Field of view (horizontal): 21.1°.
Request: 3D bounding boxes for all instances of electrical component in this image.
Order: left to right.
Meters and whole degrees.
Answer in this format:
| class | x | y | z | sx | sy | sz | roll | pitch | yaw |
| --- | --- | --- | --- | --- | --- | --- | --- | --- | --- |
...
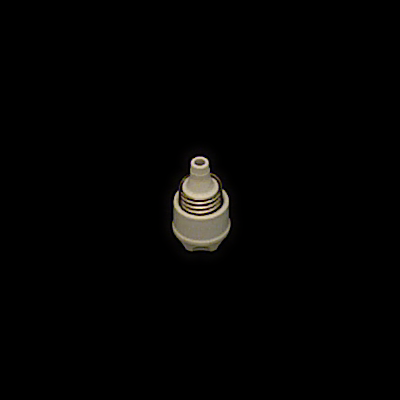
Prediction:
| class | x | y | z | sx | sy | sz | roll | pitch | yaw |
| --- | --- | --- | --- | --- | --- | --- | --- | --- | --- |
| electrical component | 0.000 | 0.000 | 0.641 | 0.035 | 0.062 | 0.035 | -1 | 42 | 1 |
